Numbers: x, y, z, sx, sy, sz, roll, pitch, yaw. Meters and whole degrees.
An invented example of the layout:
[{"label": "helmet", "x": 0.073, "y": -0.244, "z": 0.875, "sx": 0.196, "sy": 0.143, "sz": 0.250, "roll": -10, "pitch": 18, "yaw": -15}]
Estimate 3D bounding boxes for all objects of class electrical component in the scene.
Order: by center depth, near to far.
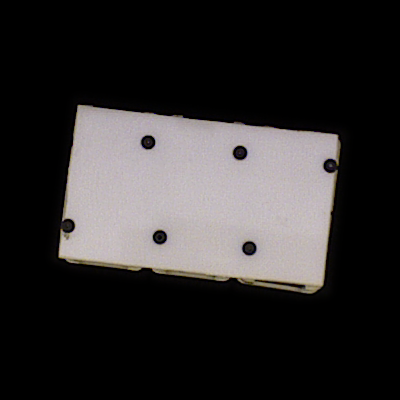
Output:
[{"label": "electrical component", "x": 0.000, "y": 0.000, "z": 0.631, "sx": 0.150, "sy": 0.089, "sz": 0.061, "roll": 7, "pitch": -6, "yaw": 0}]
